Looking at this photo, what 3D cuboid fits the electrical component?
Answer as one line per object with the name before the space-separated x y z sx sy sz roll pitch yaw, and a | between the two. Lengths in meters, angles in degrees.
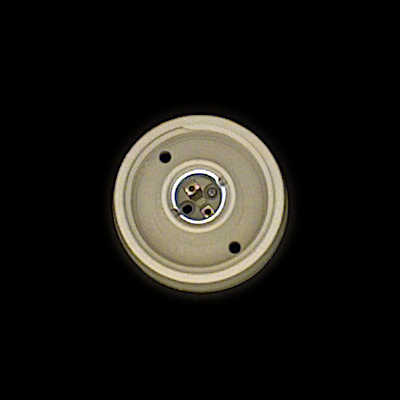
electrical component | 0.000 0.000 0.635 0.108 0.108 0.060 0 -6 0
